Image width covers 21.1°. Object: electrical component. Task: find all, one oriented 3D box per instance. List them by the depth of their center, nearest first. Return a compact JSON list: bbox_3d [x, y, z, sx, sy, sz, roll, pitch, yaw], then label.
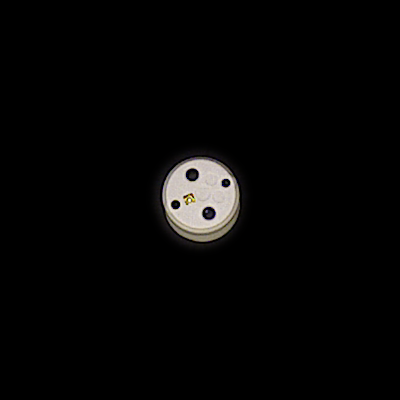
[{"bbox_3d":[0.000,0.000,0.630,0.045,0.045,0.055,0,-7,0],"label":"electrical component"}]
